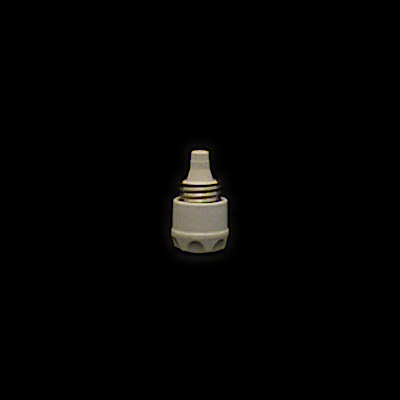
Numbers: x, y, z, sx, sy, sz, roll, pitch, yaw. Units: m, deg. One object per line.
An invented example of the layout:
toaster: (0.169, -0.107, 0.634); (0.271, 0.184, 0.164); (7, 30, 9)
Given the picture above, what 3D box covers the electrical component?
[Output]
electrical component: (0.000, 0.000, 0.655); (0.035, 0.062, 0.035); (0, 11, 0)
